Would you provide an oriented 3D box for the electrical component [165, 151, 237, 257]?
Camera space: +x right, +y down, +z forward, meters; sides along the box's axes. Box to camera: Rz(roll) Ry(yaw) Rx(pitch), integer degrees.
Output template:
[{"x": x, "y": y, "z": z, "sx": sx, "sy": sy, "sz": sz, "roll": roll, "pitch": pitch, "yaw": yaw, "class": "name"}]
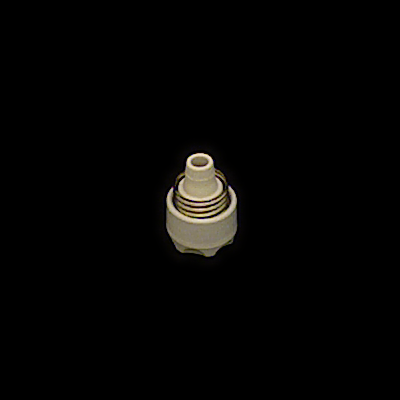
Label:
[{"x": 0.000, "y": 0.000, "z": 0.638, "sx": 0.043, "sy": 0.062, "sz": 0.043, "roll": 0, "pitch": 42, "yaw": 1, "class": "electrical component"}]
